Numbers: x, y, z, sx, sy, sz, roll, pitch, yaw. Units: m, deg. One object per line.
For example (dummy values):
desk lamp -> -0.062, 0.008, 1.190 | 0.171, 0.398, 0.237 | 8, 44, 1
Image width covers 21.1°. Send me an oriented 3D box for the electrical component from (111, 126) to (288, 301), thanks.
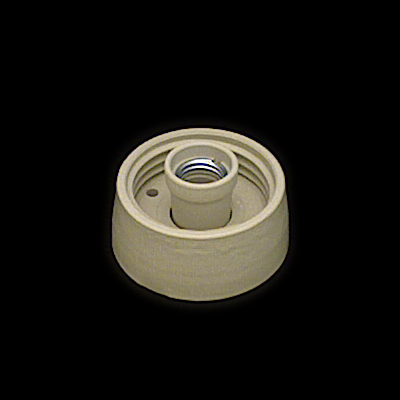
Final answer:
electrical component -> 0.000, 0.000, 0.636 | 0.108, 0.061, 0.107 | 1, 42, 0
